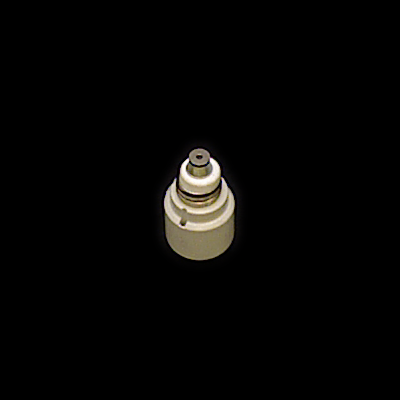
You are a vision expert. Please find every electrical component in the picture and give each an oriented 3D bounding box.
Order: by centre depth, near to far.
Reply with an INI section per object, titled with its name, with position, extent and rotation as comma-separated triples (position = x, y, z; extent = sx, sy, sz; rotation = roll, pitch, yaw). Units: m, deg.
[electrical component]
position = 0.000, 0.000, 0.622
extent = 0.040, 0.040, 0.079
rotation = 0, -37, 0
